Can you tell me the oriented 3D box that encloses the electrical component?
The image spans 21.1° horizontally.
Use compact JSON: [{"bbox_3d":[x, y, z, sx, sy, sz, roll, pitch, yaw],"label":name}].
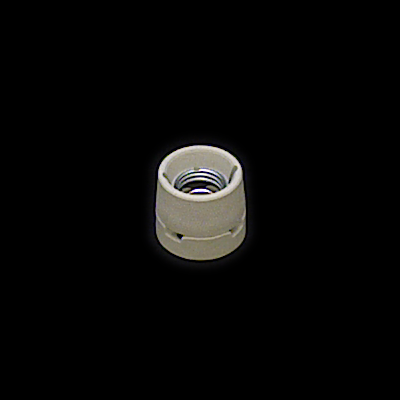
[{"bbox_3d":[0.000,0.000,0.636,0.055,0.047,0.055,0,42,0],"label":"electrical component"}]
